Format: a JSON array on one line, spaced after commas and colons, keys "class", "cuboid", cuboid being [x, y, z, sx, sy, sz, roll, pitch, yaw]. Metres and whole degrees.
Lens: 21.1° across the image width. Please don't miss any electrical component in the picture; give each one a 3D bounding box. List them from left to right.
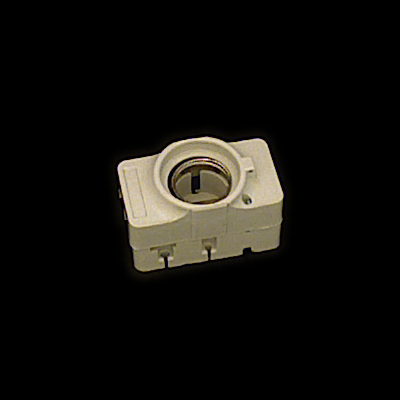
[{"class": "electrical component", "cuboid": [0.000, 0.000, 0.637, 0.090, 0.050, 0.056, -10, -36, -8]}]
